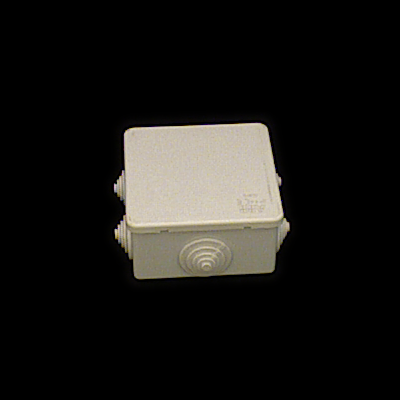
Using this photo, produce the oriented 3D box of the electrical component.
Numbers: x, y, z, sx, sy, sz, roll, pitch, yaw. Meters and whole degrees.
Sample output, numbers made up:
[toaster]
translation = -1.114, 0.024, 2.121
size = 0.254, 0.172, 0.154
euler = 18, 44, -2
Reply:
[electrical component]
translation = 0.000, 0.000, 0.642
size = 0.100, 0.049, 0.099
euler = -2, 43, -4
